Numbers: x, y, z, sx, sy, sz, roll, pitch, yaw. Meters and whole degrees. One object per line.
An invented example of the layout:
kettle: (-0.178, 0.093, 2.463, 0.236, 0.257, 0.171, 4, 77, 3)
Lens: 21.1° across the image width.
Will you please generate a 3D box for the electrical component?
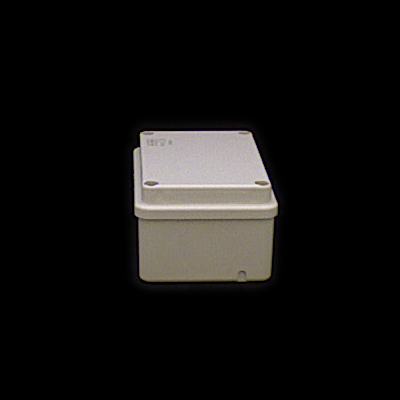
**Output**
electrical component: (0.000, 0.000, 0.638, 0.078, 0.058, 0.111, 0, 21, -4)
